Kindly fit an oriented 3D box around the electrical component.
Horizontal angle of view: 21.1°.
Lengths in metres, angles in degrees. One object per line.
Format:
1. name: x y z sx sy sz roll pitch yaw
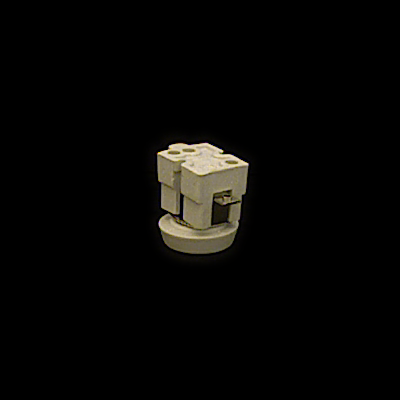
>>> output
1. electrical component: 0.000 0.000 0.647 0.049 0.056 0.065 -13 27 -34
